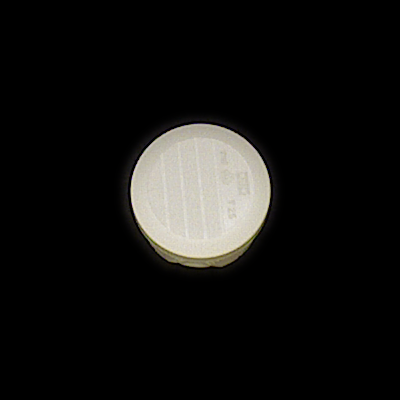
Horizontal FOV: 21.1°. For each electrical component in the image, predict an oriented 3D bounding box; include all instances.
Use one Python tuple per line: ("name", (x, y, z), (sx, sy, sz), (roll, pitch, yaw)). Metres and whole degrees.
("electrical component", (0.000, 0.000, 0.629), (0.080, 0.080, 0.050), (0, -17, 0))
